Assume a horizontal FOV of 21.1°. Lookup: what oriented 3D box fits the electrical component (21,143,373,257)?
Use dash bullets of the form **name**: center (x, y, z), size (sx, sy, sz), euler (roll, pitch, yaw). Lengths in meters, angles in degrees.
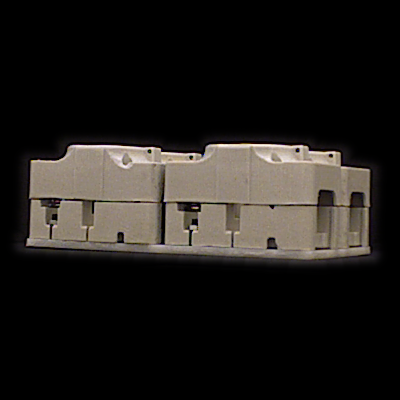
- **electrical component**: center (0.000, 0.000, 0.650), size (0.186, 0.060, 0.106), euler (1, 0, 27)
